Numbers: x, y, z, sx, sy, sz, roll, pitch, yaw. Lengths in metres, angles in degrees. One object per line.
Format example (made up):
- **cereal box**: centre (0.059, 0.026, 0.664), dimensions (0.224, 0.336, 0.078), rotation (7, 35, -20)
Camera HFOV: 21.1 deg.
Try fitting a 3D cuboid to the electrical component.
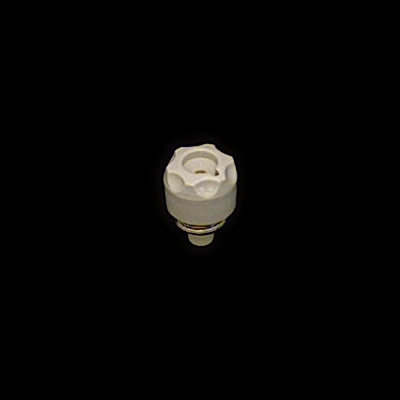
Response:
- **electrical component**: centre (0.000, 0.000, 0.638), dimensions (0.043, 0.062, 0.043), rotation (0, 42, 1)
